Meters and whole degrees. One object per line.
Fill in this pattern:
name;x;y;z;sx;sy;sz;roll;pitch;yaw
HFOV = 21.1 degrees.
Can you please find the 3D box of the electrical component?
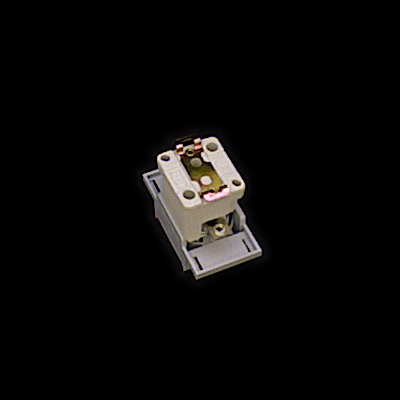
electrical component;0.000;0.000;0.627;0.042;0.080;0.064;-20;-35;-15
